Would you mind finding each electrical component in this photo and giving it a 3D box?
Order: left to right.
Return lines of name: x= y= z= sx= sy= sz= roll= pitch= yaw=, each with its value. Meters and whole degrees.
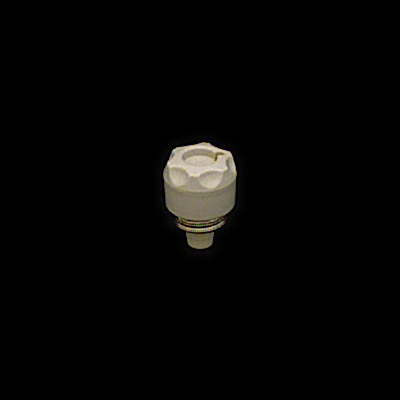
electrical component: x=0.000 y=0.000 z=0.641 sx=0.043 sy=0.063 sz=0.043 roll=0 pitch=33 yaw=0
